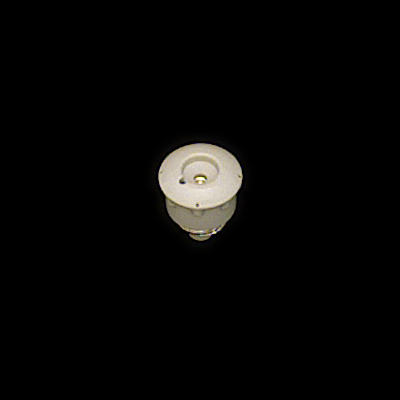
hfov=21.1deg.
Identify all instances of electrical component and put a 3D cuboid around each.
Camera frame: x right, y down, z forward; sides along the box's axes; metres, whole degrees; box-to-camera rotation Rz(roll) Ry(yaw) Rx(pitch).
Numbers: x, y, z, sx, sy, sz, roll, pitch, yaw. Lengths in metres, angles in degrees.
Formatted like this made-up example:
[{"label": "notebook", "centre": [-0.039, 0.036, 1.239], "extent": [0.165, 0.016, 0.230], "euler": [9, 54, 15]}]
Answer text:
[{"label": "electrical component", "centre": [0.000, 0.000, 0.634], "extent": [0.048, 0.048, 0.062], "euler": [0, -37, 0]}]
